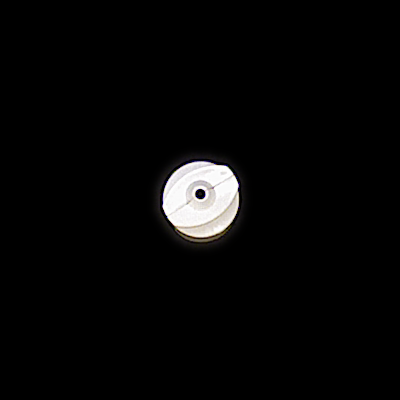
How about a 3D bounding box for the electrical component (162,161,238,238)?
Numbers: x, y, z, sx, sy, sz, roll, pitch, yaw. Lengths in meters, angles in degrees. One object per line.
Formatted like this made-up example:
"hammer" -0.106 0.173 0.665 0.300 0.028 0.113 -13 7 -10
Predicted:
"electrical component" 0.000 0.000 0.616 0.043 0.043 0.080 0 -6 1
